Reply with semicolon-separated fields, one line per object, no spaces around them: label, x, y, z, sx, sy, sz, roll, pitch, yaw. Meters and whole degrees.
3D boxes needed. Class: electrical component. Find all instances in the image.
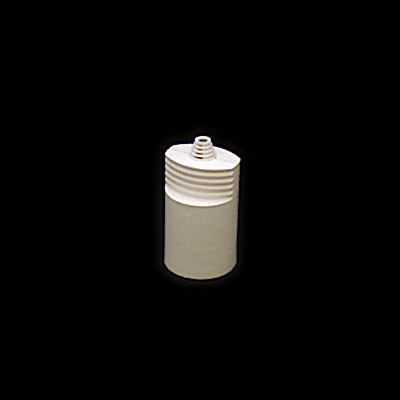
electrical component;0.000;0.000;0.628;0.043;0.082;0.042;1;31;0
